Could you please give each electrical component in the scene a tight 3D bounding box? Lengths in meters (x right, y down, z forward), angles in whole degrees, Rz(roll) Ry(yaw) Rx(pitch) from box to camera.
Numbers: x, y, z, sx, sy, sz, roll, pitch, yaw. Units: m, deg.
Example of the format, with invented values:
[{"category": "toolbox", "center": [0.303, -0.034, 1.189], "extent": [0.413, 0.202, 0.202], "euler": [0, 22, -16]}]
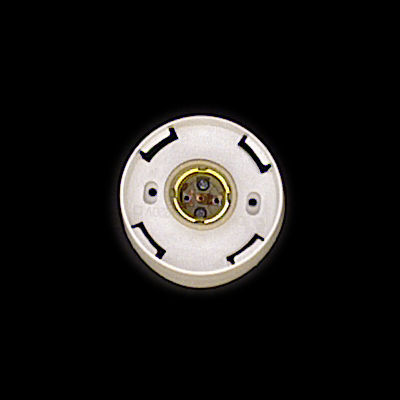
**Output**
[{"category": "electrical component", "center": [0.000, 0.000, 0.626], "extent": [0.099, 0.099, 0.064], "euler": [0, -6, 0]}]
